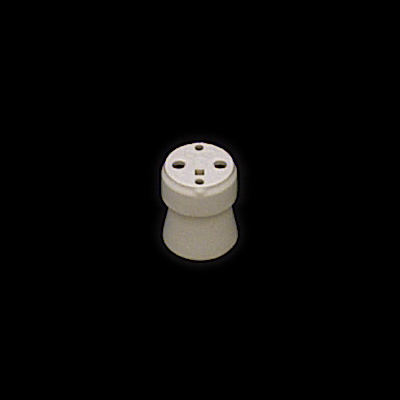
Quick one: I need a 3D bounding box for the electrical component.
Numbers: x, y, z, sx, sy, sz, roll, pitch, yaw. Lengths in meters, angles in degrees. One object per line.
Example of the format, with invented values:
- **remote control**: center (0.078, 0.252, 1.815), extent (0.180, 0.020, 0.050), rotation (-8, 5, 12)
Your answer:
- **electrical component**: center (0.000, 0.000, 0.632), extent (0.045, 0.055, 0.044), rotation (0, 42, 0)
